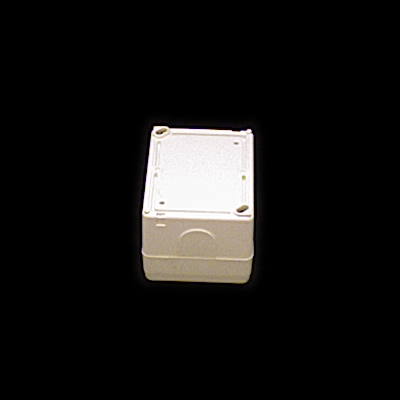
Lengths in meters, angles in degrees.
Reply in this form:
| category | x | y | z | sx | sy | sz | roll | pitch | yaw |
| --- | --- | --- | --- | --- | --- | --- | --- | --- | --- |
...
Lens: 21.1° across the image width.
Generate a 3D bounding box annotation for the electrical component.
| category | x | y | z | sx | sy | sz | roll | pitch | yaw |
| --- | --- | --- | --- | --- | --- | --- | --- | --- | --- |
| electrical component | 0.000 | 0.000 | 0.632 | 0.062 | 0.061 | 0.095 | 2 | 41 | 1 |
